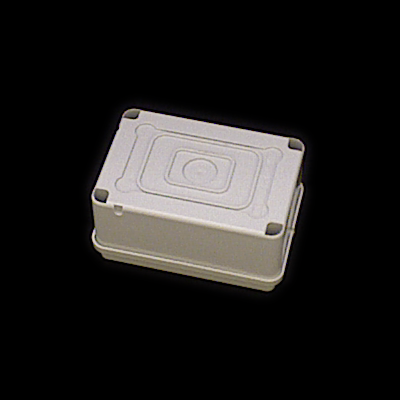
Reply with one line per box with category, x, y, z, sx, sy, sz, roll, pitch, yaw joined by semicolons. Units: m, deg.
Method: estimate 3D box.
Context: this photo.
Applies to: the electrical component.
electrical component;0.000;0.000;0.629;0.113;0.078;0.057;11;-37;7
